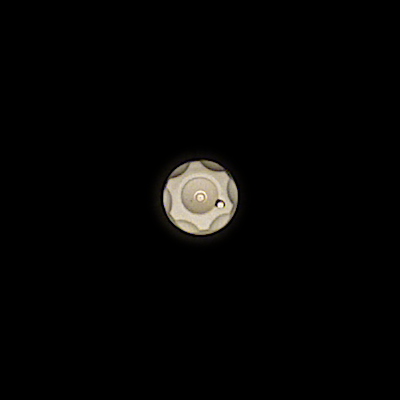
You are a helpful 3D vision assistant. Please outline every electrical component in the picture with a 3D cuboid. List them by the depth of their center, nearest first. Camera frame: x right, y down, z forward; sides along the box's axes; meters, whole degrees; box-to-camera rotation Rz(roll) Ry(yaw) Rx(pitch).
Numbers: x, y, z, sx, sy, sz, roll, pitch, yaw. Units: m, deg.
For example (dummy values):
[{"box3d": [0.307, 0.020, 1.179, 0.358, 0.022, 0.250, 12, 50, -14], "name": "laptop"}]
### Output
[{"box3d": [0.000, 0.000, 0.635, 0.043, 0.043, 0.062, 0, -5, 2], "name": "electrical component"}]
